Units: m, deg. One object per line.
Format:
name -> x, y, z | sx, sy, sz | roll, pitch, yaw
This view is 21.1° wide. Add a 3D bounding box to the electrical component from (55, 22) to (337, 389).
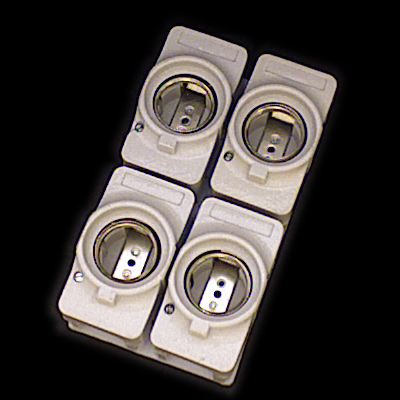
electrical component -> 0.000, 0.000, 0.625 | 0.105, 0.187, 0.060 | 19, -16, 6
